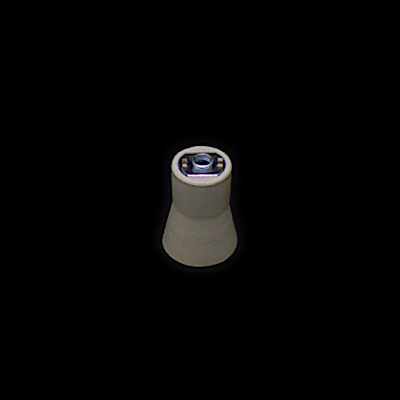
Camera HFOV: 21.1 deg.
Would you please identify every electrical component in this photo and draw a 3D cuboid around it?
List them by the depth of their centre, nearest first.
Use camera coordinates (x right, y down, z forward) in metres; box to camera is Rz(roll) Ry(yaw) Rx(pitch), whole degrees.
[{"bbox_3d":[0.000,0.000,0.628,0.044,0.066,0.044,1,43,0],"label":"electrical component"}]
